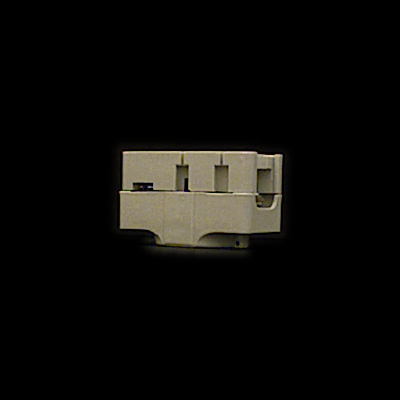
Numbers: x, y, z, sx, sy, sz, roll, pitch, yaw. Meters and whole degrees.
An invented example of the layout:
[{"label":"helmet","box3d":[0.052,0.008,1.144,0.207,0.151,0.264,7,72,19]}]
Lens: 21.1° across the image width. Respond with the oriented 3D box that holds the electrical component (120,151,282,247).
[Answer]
[{"label":"electrical component","box3d":[0.000,0.000,0.657,0.089,0.056,0.050,2,1,29]}]
